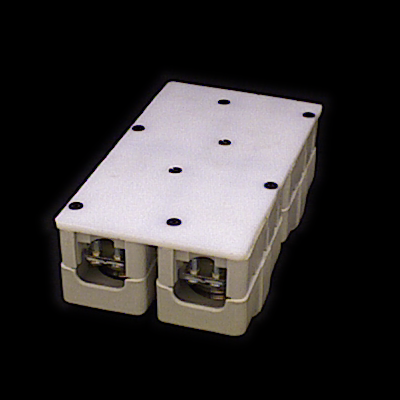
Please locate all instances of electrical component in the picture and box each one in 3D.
[{"bbox_3d":[0.000,0.000,0.634,0.105,0.061,0.184,10,32,15],"label":"electrical component"}]
